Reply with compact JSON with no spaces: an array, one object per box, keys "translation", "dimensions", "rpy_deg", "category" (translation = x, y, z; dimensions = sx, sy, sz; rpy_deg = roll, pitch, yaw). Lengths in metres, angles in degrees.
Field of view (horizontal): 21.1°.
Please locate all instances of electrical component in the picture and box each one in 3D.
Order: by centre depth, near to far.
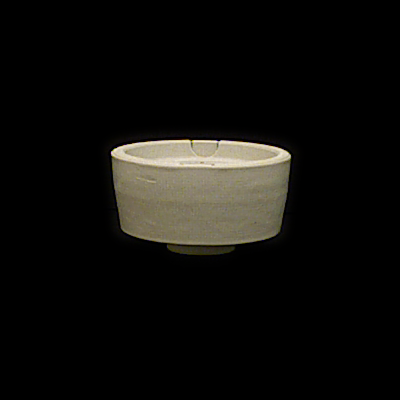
[{"translation":[0.000,0.000,0.654],"dimensions":[0.108,0.061,0.107],"rpy_deg":[1,11,0],"category":"electrical component"}]
